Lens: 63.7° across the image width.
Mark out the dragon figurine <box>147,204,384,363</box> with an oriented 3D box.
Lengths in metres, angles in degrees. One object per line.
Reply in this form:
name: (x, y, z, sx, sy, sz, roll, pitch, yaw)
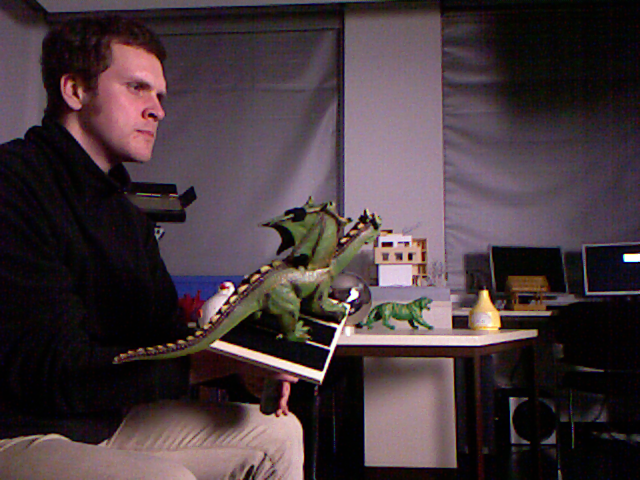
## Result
dragon figurine: (-0.053, 0.041, 0.773, 0.414, 0.238, 0.124, -18, 46, -37)
